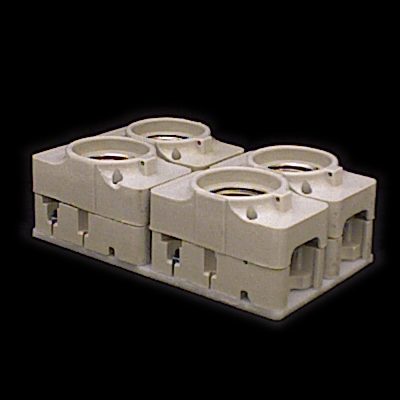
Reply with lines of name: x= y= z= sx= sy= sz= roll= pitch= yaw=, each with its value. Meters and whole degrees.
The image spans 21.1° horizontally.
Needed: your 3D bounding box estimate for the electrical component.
electrical component: x=0.000 y=0.000 z=0.639 sx=0.185 sy=0.061 sz=0.105 roll=16 pitch=25 yaw=34
